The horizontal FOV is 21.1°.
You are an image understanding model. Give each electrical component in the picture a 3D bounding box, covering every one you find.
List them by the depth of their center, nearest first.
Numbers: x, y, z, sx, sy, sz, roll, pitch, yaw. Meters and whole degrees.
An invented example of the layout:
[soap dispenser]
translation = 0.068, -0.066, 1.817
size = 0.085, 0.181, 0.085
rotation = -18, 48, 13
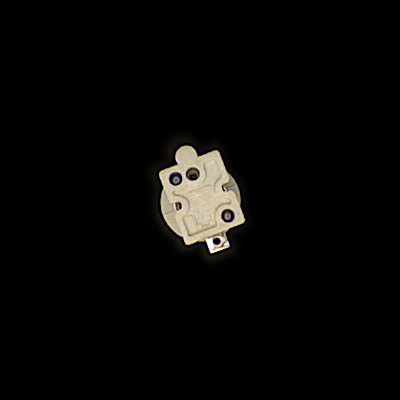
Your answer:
[electrical component]
translation = 0.000, 0.000, 0.639
size = 0.048, 0.066, 0.055
rotation = -21, -5, -2
